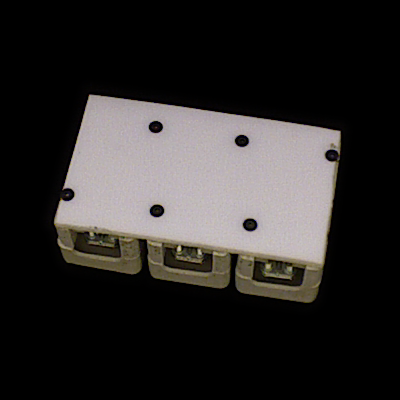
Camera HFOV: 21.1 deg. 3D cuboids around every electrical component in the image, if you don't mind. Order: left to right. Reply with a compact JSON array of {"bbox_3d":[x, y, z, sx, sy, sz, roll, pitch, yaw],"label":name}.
[{"bbox_3d":[0.000,0.000,0.630,0.150,0.089,0.062,9,-27,5],"label":"electrical component"}]
